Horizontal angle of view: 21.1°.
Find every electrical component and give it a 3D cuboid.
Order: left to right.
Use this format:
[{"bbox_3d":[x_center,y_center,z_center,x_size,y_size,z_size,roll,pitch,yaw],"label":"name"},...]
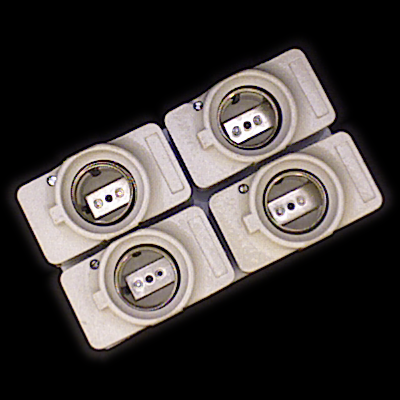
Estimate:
[{"bbox_3d":[0.000,0.000,0.626,0.186,0.106,0.060,-27,-6,-3],"label":"electrical component"}]
